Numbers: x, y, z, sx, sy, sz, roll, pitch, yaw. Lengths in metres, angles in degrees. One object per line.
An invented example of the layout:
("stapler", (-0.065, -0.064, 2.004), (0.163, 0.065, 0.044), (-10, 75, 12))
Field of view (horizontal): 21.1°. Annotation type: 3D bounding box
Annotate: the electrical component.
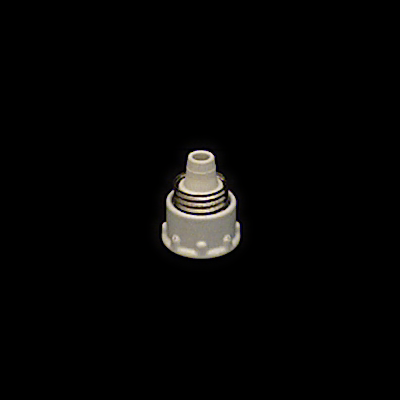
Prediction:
("electrical component", (0.000, 0.000, 0.642), (0.048, 0.063, 0.047), (1, 31, 0))
